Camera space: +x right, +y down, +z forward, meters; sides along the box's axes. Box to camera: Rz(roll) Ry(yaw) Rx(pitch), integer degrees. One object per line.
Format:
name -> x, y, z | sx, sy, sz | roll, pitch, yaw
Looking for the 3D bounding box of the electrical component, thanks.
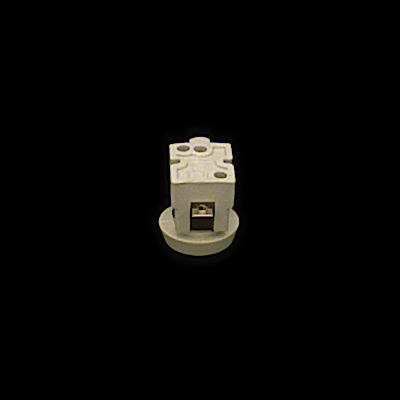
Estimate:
electrical component -> 0.000, 0.000, 0.644 | 0.048, 0.056, 0.065 | 0, 33, -4
